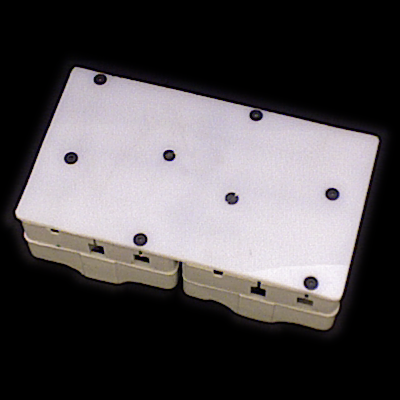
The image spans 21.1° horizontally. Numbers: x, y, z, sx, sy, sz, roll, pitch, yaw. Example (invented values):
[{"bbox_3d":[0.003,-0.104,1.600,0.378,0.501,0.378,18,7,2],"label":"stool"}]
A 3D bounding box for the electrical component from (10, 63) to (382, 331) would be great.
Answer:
[{"bbox_3d":[0.000,0.000,0.626,0.186,0.106,0.060,14,-26,7],"label":"electrical component"}]
